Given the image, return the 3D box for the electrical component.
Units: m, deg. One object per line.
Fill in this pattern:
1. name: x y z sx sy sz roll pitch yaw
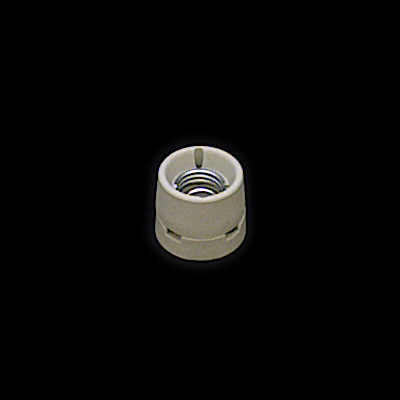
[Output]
1. electrical component: 0.000 0.000 0.635 0.055 0.047 0.055 0 43 0
